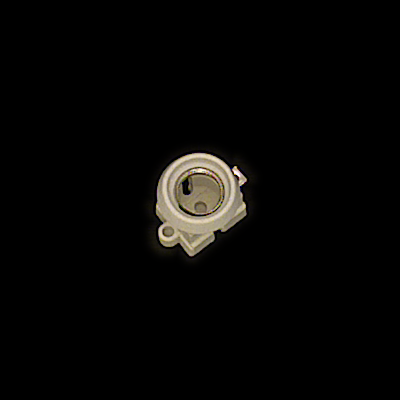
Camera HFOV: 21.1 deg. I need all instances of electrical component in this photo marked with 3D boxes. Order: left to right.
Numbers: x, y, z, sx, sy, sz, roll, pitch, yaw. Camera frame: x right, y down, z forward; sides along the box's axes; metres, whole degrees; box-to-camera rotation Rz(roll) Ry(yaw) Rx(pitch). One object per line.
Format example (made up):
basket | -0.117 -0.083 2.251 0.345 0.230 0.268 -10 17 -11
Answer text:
electrical component | 0.000 0.000 0.638 0.067 0.048 0.055 -38 -11 -10
